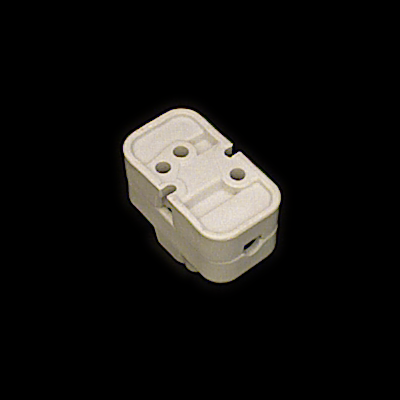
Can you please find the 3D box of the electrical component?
[{"bbox_3d":[0.000,0.000,0.634,0.054,0.094,0.059,-33,-30,-22],"label":"electrical component"}]
